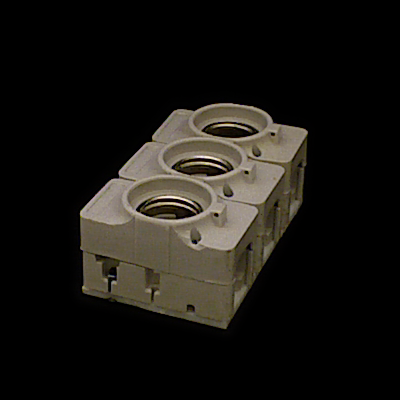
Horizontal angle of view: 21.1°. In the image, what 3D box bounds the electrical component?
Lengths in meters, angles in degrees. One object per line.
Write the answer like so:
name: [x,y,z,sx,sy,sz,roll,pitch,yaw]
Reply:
electrical component: [0.000,0.000,0.640,0.089,0.063,0.147,12,33,17]
